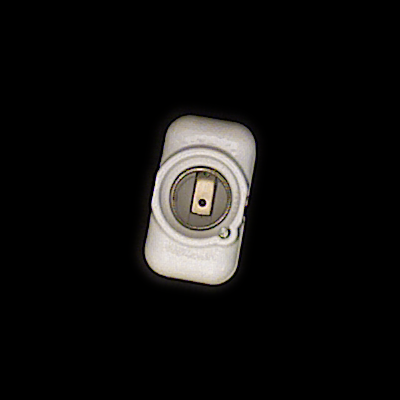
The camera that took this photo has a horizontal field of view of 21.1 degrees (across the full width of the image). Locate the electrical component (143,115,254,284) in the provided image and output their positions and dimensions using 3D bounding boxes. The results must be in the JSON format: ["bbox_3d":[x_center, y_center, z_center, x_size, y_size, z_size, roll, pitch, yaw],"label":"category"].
[{"bbox_3d":[0.000,0.000,0.635,0.054,0.095,0.059,9,-5,2],"label":"electrical component"}]
